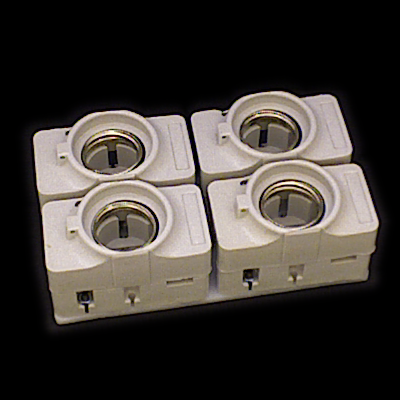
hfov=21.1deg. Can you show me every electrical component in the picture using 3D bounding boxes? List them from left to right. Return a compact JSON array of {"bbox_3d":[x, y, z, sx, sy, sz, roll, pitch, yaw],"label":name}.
[{"bbox_3d":[0.000,0.000,0.626,0.186,0.105,0.060,-8,-37,-6],"label":"electrical component"}]
